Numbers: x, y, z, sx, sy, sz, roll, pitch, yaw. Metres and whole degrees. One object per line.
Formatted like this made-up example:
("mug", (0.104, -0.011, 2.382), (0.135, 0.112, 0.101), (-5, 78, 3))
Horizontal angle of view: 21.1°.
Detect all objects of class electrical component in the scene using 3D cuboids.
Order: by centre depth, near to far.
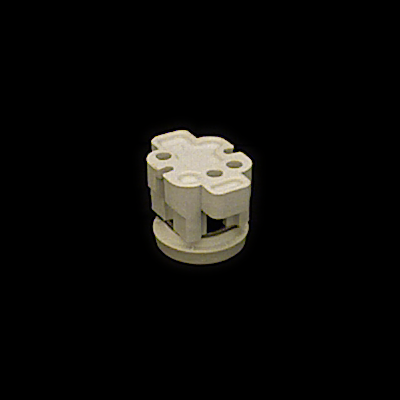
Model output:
("electrical component", (0.000, 0.000, 0.643), (0.058, 0.057, 0.077), (-19, 36, -27))
